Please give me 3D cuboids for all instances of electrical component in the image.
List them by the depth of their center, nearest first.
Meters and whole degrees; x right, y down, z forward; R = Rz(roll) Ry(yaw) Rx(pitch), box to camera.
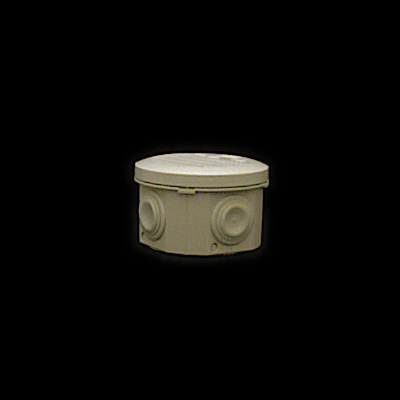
[{"bbox_3d":[0.000,0.000,0.644,0.080,0.051,0.079,1,11,0],"label":"electrical component"}]
